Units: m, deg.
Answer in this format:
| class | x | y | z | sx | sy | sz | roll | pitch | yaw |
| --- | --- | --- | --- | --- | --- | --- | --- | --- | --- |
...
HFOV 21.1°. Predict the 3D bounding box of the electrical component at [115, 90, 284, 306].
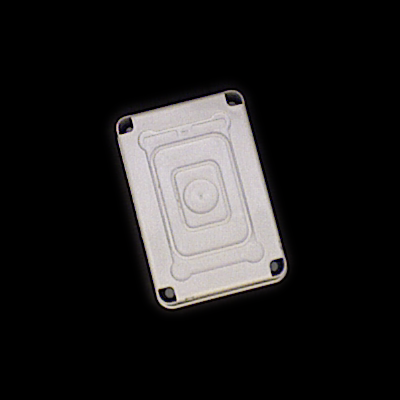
| class | x | y | z | sx | sy | sz | roll | pitch | yaw |
| --- | --- | --- | --- | --- | --- | --- | --- | --- | --- |
| electrical component | 0.000 | 0.000 | 0.629 | 0.078 | 0.113 | 0.057 | -14 | -7 | -1 |
